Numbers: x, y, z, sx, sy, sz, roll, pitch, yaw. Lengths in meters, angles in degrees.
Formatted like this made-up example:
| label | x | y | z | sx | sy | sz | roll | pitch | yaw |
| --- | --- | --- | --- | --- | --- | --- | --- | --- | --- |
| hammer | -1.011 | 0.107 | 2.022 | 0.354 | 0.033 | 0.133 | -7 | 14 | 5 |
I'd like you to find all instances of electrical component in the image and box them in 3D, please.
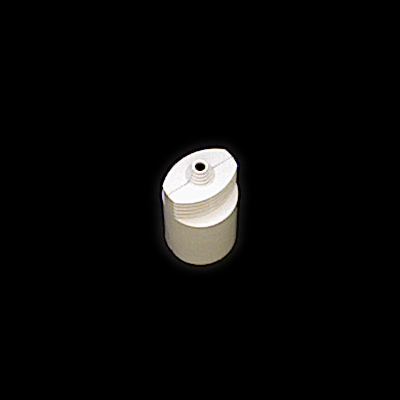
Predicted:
| label | x | y | z | sx | sy | sz | roll | pitch | yaw |
| --- | --- | --- | --- | --- | --- | --- | --- | --- | --- |
| electrical component | 0.000 | 0.000 | 0.617 | 0.043 | 0.043 | 0.081 | 0 | -27 | 0 |
